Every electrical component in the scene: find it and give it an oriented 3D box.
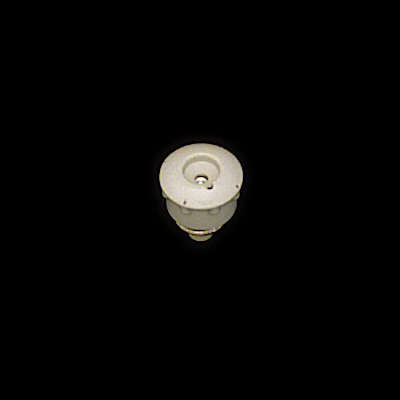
[{"bbox_3d":[0.000,0.000,0.635,0.048,0.048,0.062,0,-37,0],"label":"electrical component"}]
